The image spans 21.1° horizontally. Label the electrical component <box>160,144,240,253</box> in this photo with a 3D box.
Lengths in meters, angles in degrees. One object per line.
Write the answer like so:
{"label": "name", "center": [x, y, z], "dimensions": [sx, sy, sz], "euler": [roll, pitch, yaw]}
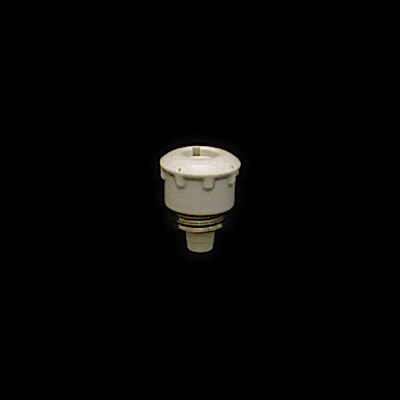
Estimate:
{"label": "electrical component", "center": [0.000, 0.000, 0.645], "dimensions": [0.048, 0.062, 0.047], "euler": [1, 22, 0]}
